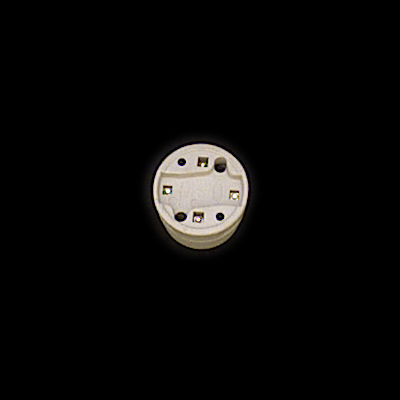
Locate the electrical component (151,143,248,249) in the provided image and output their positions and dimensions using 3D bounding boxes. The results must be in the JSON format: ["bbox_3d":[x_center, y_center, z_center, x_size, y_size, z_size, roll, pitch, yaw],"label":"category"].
[{"bbox_3d":[0.000,0.000,0.634,0.055,0.056,0.047,0,-17,0],"label":"electrical component"}]
